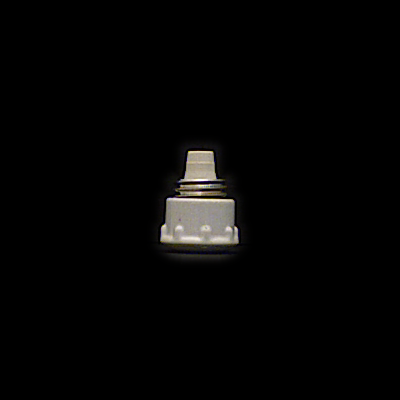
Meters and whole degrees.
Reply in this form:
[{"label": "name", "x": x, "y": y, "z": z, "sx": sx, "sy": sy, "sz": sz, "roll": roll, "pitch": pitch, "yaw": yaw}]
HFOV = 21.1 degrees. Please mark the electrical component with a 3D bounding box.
[{"label": "electrical component", "x": 0.000, "y": 0.000, "z": 0.654, "sx": 0.048, "sy": 0.062, "sz": 0.048, "roll": 1, "pitch": 3, "yaw": 0}]
